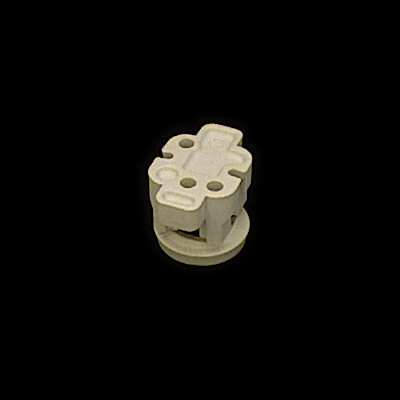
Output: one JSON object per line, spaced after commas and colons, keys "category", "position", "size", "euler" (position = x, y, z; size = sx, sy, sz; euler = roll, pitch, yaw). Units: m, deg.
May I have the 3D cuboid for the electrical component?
{"category": "electrical component", "position": [0.000, 0.000, 0.640], "size": [0.057, 0.057, 0.078], "euler": [14, 43, 16]}
